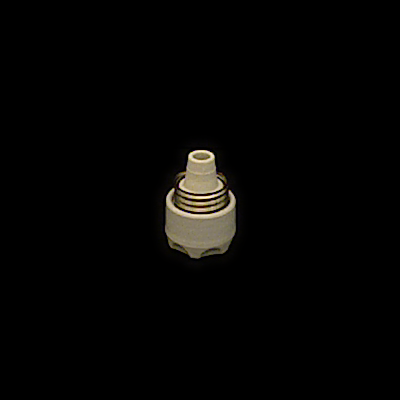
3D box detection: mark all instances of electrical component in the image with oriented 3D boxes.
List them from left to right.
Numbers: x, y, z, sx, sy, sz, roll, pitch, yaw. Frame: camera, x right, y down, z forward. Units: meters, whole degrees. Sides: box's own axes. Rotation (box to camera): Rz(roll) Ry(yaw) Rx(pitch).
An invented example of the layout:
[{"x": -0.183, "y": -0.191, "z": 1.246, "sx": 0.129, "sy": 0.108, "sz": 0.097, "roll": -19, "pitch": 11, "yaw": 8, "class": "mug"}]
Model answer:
[{"x": 0.000, "y": 0.000, "z": 0.642, "sx": 0.043, "sy": 0.063, "sz": 0.043, "roll": 1, "pitch": 31, "yaw": 0, "class": "electrical component"}]
